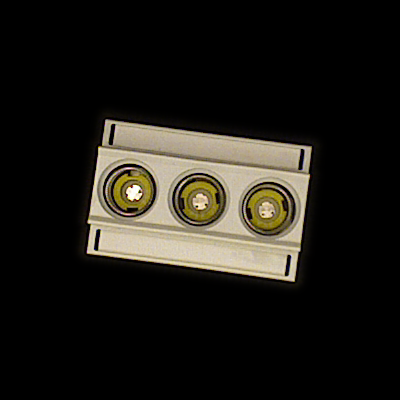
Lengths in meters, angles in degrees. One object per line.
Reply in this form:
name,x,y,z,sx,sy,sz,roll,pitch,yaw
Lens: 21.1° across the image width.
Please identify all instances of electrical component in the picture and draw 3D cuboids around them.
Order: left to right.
electrical component,0.000,0.000,0.637,0.121,0.079,0.063,8,-4,1
